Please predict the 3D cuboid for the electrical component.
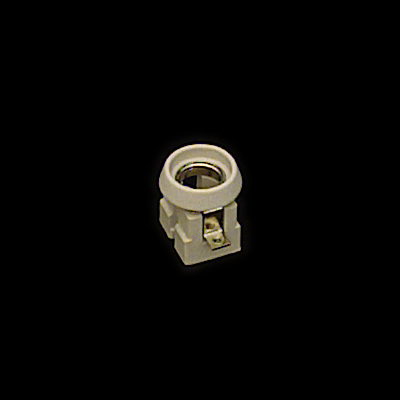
[{"bbox_3d":[0.000,0.000,0.639,0.048,0.056,0.065,-18,46,-17],"label":"electrical component"}]
